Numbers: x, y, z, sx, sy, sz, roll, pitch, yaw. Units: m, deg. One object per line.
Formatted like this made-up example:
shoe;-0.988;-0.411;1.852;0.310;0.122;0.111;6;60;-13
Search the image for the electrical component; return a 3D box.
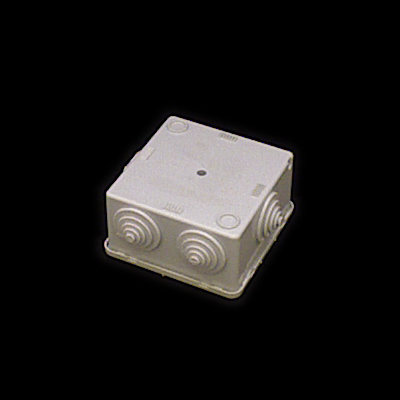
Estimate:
electrical component;0.000;0.000;0.634;0.099;0.049;0.099;19;45;18
